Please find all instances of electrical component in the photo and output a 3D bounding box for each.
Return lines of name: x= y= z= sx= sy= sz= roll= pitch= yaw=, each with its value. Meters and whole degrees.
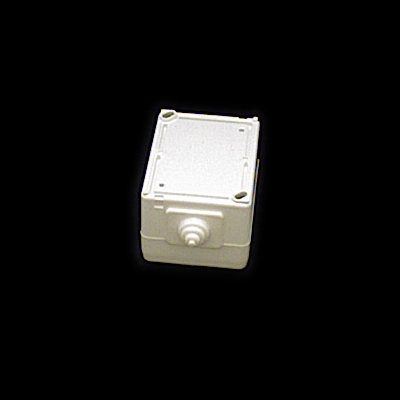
electrical component: x=0.000 y=0.000 z=0.625 sx=0.062 sy=0.061 sz=0.096 roll=5 pitch=42 yaw=4
